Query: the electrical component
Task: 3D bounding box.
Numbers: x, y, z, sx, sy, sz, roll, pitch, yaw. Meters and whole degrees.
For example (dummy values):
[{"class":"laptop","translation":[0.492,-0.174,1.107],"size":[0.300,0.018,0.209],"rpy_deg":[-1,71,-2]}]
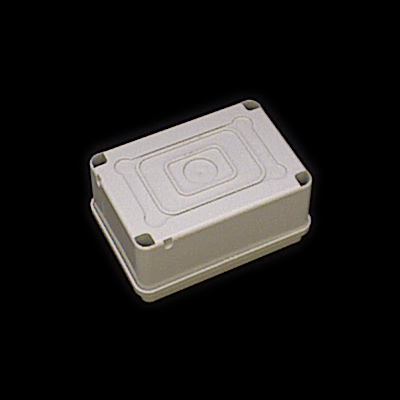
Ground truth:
[{"class":"electrical component","translation":[0.000,0.000,0.630],"size":[0.113,0.077,0.057],"rpy_deg":[-21,-35,-17]}]
